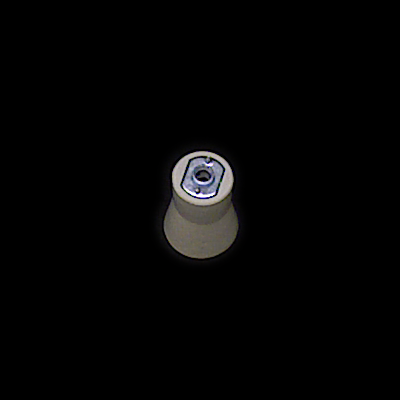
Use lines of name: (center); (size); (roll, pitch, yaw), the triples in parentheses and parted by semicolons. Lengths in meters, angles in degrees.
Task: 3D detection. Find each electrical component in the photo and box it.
electrical component: (0.000, 0.000, 0.624); (0.044, 0.044, 0.065); (0, -27, -1)
